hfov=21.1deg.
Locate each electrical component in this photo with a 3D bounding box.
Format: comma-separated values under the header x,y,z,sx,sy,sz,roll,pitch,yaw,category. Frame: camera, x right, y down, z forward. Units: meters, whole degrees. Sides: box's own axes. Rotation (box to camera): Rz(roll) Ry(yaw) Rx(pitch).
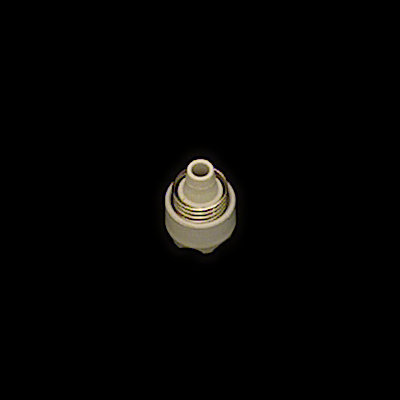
x,y,z,sx,sy,sz,roll,pitch,yaw,category
0.000,0.000,0.634,0.043,0.043,0.062,0,-36,0,electrical component
